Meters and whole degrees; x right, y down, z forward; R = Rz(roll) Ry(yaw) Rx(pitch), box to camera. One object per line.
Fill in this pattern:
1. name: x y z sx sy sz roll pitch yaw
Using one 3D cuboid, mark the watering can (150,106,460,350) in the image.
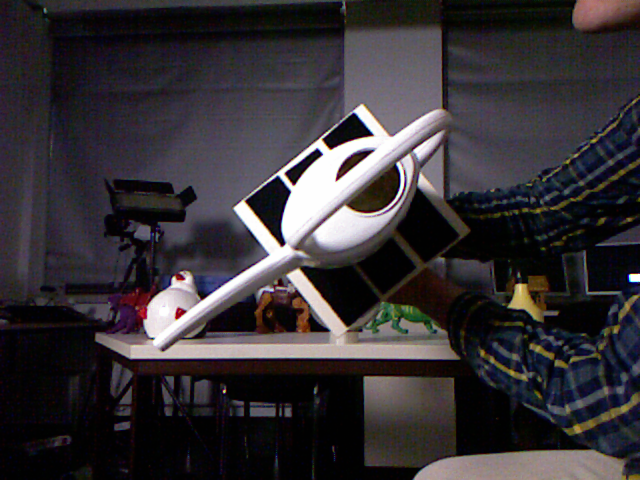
1. watering can: 0.004 -0.002 0.536 0.352 0.106 0.223 -39 -20 -4
